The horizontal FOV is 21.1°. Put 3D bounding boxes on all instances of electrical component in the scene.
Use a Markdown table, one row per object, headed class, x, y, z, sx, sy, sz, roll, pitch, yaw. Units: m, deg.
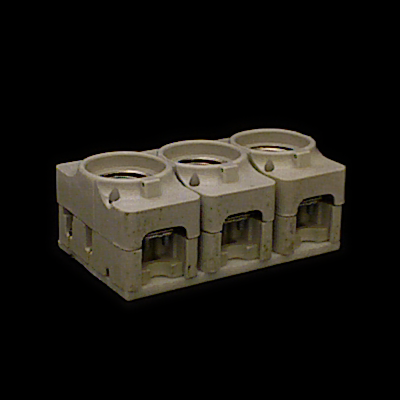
| class | x | y | z | sx | sy | sz | roll | pitch | yaw |
| --- | --- | --- | --- | --- | --- | --- | --- | --- | --- |
| electrical component | 0.000 | 0.000 | 0.644 | 0.149 | 0.063 | 0.088 | -12 | 25 | -31 |
